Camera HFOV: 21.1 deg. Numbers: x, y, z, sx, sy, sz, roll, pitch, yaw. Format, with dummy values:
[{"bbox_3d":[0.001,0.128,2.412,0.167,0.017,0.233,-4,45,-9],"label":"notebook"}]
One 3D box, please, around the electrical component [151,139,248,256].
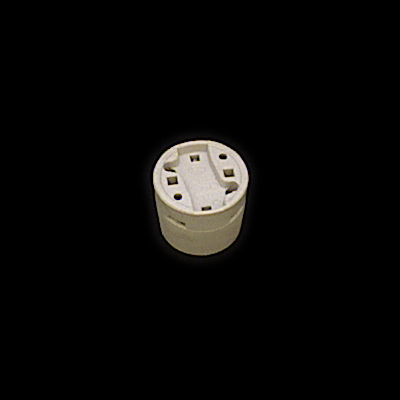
[{"bbox_3d":[0.000,0.000,0.634,0.055,0.055,0.047,0,-38,0],"label":"electrical component"}]
